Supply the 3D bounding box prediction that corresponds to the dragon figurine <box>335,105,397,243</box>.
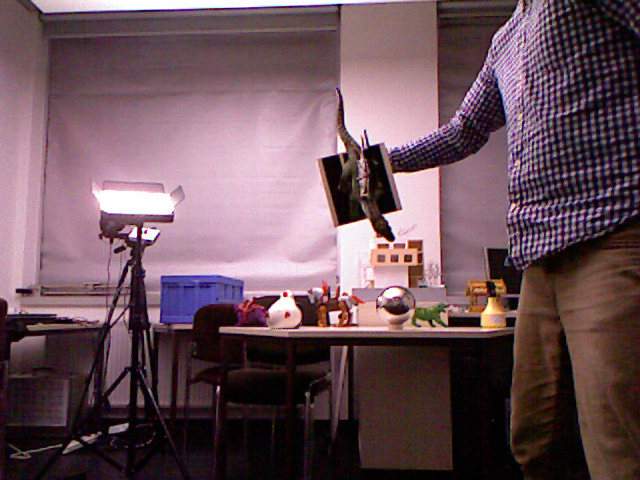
[{"bbox_3d":[0.113,-0.185,1.349,0.123,0.411,0.242,-18,-1,-8],"label":"dragon figurine"}]
